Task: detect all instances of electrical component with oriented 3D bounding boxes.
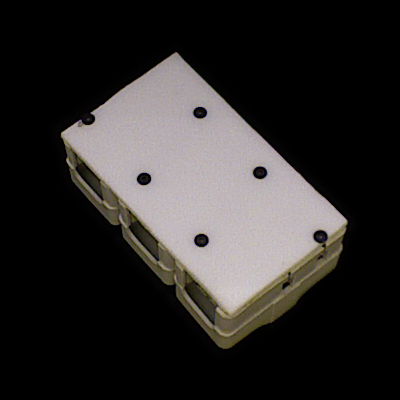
[{"bbox_3d":[0.000,0.000,0.631,0.089,0.149,0.062,-37,-21,-17],"label":"electrical component"}]
